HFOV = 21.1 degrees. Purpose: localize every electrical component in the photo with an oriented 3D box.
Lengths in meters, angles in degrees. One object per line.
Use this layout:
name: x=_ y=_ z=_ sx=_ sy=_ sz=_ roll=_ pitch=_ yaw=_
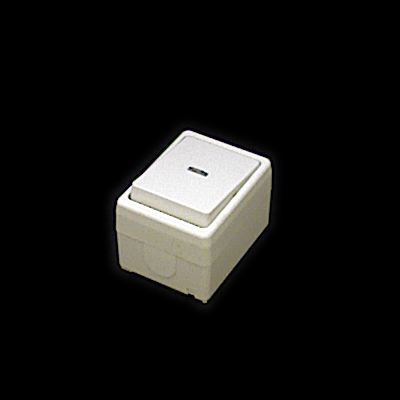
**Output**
electrical component: x=0.000 y=0.000 z=0.632 sx=0.061 sy=0.061 sz=0.096 roll=21 pitch=46 yaw=21
